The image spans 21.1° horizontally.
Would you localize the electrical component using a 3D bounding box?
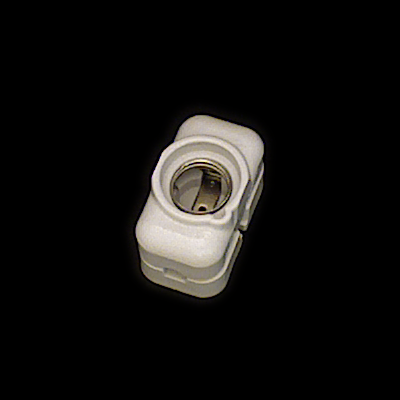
[{"bbox_3d":[0.000,0.000,0.633,0.053,0.095,0.059,17,-25,9],"label":"electrical component"}]
